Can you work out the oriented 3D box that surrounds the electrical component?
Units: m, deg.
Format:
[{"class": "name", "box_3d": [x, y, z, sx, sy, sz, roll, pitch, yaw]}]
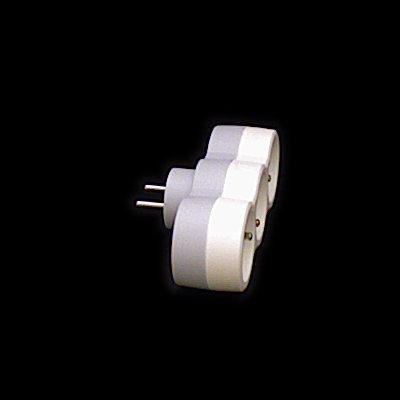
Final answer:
[{"class": "electrical component", "box_3d": [0.000, 0.000, 0.634, 0.073, 0.053, 0.137, 5, 33, 11]}]
